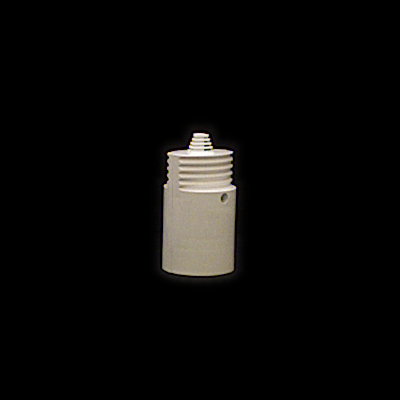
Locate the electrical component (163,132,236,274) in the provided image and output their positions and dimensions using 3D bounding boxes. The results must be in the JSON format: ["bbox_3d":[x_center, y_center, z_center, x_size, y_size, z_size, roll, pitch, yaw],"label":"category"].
[{"bbox_3d":[0.000,0.000,0.642,0.043,0.081,0.043,1,11,0],"label":"electrical component"}]
